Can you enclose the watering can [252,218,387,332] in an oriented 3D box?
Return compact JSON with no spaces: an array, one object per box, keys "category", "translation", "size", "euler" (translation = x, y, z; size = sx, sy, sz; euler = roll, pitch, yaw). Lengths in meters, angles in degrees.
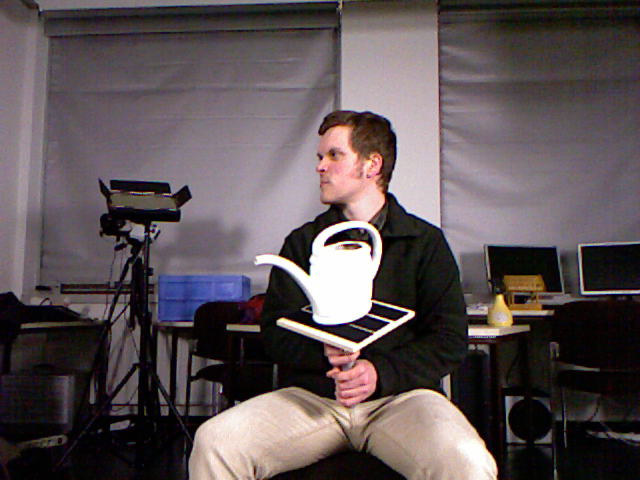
[{"category":"watering can","translation":[0.012,0.079,1.009],"size":[0.351,0.221,0.105],"euler":[-16,22,-40]}]
